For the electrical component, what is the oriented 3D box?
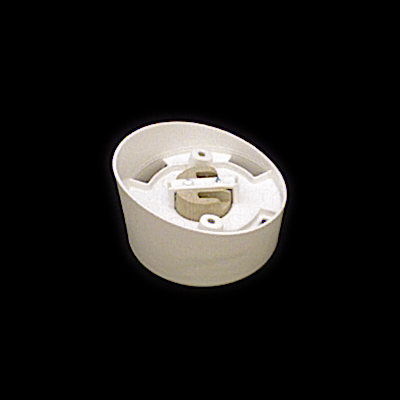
[{"bbox_3d":[0.000,0.000,0.628,0.099,0.064,0.098,0,42,0],"label":"electrical component"}]
